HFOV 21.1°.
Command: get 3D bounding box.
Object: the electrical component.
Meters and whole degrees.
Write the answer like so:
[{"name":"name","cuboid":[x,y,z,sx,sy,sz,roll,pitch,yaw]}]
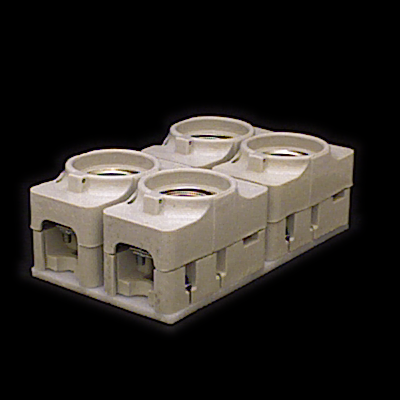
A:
[{"name":"electrical component","cuboid":[0.000,0.000,0.638,0.105,0.061,0.185,16,25,35]}]
